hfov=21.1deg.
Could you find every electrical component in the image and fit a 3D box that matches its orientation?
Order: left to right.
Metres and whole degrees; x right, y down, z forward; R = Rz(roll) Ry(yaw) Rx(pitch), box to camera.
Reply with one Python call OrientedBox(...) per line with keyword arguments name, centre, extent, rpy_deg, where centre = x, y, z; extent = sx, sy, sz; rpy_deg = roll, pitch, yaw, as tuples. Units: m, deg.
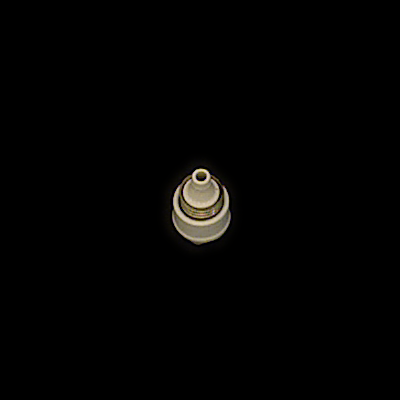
OrientedBox(name="electrical component", centre=(0.000, 0.000, 0.637), extent=(0.035, 0.035, 0.061), rpy_deg=(0, -28, 0))
